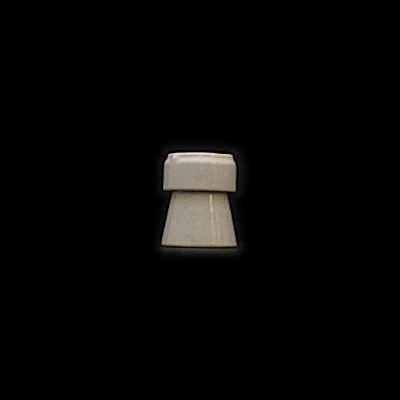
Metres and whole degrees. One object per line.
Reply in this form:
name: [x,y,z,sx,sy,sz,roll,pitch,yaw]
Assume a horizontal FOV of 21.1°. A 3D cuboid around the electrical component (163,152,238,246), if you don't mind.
electrical component: [0.000,0.000,0.650,0.045,0.055,0.045,1,1,0]
